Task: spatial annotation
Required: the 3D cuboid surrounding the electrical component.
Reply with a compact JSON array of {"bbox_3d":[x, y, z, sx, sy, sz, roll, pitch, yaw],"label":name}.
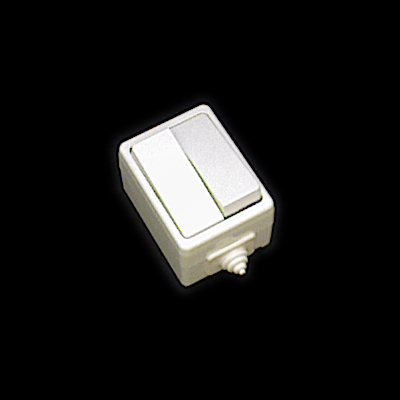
[{"bbox_3d":[0.000,0.000,0.625,0.062,0.096,0.060,-27,-25,-13],"label":"electrical component"}]
